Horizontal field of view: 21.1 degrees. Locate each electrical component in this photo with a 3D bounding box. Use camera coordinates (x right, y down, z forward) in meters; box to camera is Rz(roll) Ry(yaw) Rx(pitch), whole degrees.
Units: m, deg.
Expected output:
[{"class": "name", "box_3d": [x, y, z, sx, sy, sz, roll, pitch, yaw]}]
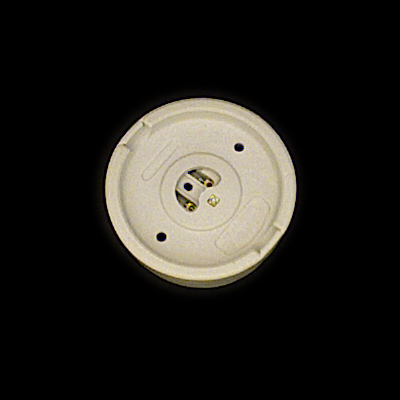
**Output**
[{"class": "electrical component", "box_3d": [0.000, 0.000, 0.633, 0.108, 0.108, 0.060, 0, -16, 1]}]
